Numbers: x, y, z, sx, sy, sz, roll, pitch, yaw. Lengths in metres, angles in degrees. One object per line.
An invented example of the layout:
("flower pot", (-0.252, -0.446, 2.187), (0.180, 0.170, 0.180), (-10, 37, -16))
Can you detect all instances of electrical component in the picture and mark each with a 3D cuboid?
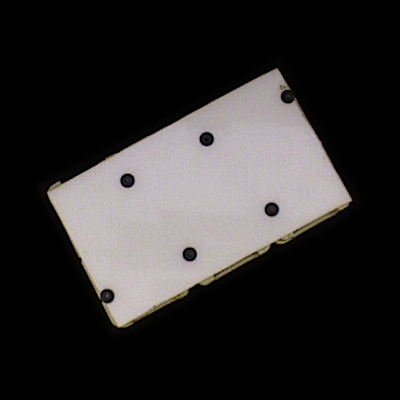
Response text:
("electrical component", (0.000, 0.000, 0.630), (0.150, 0.089, 0.061), (-28, -6, -3))
